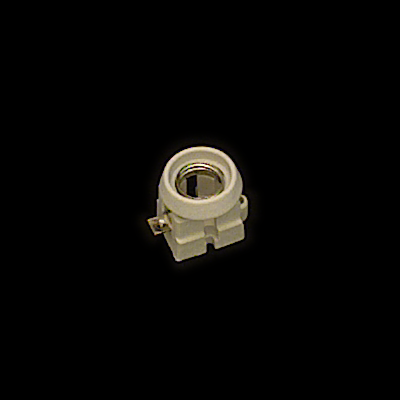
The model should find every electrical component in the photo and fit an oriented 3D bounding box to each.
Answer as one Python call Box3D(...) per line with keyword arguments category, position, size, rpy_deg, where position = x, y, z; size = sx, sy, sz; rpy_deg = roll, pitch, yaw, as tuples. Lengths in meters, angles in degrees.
Box3D(category="electrical component", position=(0.000, 0.000, 0.637), size=(0.067, 0.048, 0.055), rpy_deg=(-20, -36, -15))
